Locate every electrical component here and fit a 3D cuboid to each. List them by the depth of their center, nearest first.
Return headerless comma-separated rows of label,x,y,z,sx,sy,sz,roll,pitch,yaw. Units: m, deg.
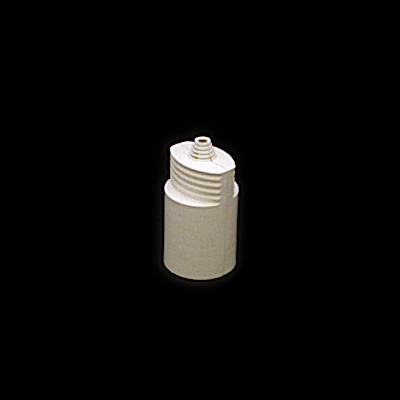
electrical component,0.000,0.000,0.628,0.043,0.082,0.042,1,31,0
